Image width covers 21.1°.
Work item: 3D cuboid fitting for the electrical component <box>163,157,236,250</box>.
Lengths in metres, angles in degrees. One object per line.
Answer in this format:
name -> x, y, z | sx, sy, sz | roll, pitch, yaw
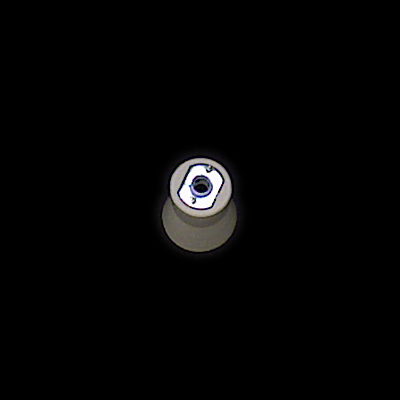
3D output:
electrical component -> 0.000, 0.000, 0.624 | 0.044, 0.044, 0.065 | 0, -16, -1
